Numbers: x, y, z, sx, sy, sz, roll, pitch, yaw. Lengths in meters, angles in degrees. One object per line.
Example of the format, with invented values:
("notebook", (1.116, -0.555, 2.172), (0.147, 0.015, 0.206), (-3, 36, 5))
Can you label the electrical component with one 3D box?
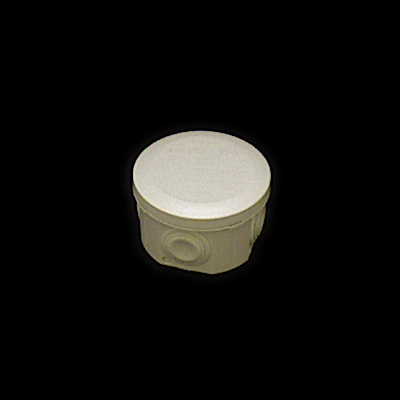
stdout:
("electrical component", (0.000, 0.000, 0.634), (0.080, 0.051, 0.079), (1, 42, 0))
